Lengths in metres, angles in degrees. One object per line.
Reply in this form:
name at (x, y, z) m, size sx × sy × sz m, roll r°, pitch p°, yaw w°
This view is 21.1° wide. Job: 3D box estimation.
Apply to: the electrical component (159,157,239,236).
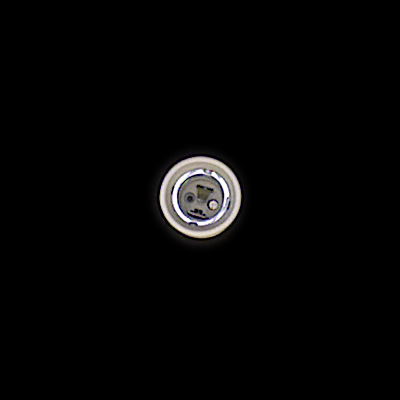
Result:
electrical component at (0.000, 0.000, 0.629) m, size 0.045 × 0.045 × 0.055 m, roll 0°, pitch -6°, yaw 1°
